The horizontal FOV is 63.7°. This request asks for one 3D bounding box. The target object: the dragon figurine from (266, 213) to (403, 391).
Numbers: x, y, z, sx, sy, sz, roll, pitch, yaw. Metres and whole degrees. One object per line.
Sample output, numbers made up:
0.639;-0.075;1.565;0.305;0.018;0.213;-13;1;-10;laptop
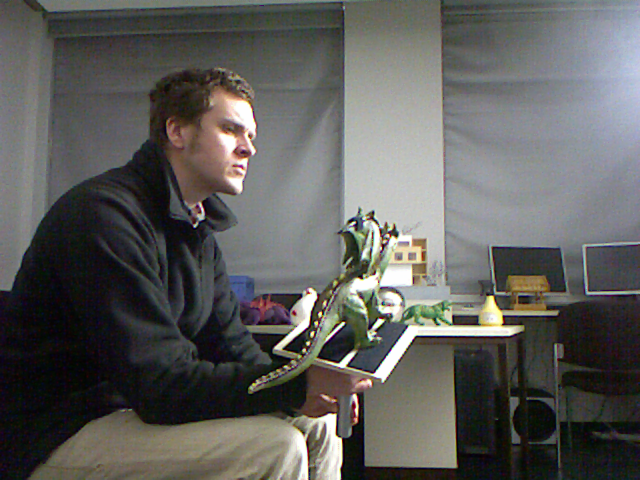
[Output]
0.047;0.067;0.881;0.123;0.239;0.416;15;23;26;dragon figurine
